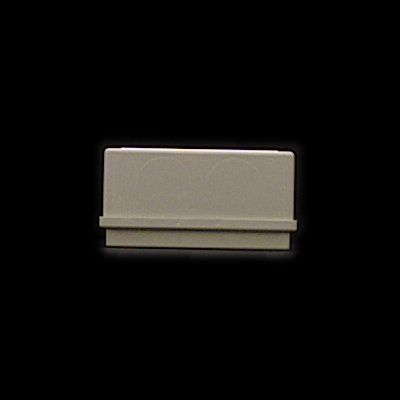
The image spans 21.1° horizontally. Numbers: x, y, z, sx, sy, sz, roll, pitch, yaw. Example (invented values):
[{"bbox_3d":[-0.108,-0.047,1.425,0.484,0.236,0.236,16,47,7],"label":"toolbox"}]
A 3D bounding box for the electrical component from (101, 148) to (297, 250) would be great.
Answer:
[{"bbox_3d":[0.000,0.000,0.649,0.113,0.057,0.078,1,0,0],"label":"electrical component"}]
